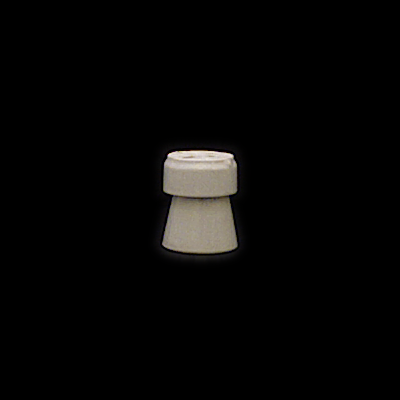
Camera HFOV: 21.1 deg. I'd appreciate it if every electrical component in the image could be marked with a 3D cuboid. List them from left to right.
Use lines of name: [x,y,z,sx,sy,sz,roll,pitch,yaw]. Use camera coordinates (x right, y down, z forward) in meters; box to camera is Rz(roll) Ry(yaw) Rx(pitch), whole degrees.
electrical component: [0.000,0.000,0.643,0.045,0.055,0.044,1,11,0]
